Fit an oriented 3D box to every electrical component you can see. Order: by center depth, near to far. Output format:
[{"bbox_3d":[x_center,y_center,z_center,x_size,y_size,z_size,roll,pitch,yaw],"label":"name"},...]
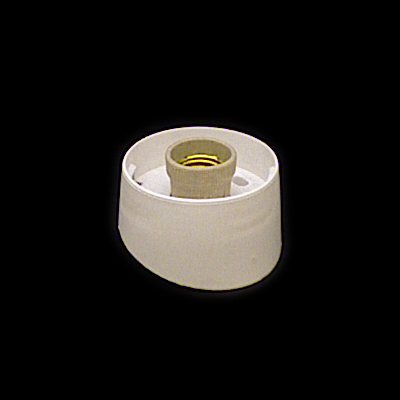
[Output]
[{"bbox_3d":[0.000,0.000,0.633,0.099,0.065,0.097,1,31,0],"label":"electrical component"}]
